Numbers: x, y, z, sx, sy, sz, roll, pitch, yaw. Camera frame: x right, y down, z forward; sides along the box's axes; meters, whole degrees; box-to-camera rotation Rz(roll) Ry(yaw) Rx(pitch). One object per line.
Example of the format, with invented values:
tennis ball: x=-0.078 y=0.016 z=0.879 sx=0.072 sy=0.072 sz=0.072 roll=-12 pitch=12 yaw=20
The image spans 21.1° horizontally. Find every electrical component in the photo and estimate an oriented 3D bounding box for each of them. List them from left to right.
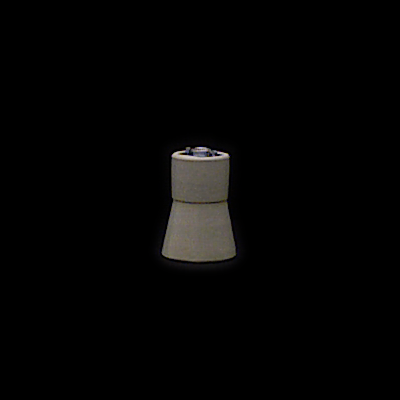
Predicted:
electrical component: x=0.000 y=0.000 z=0.643 sx=0.044 sy=0.066 sz=0.044 roll=1 pitch=12 yaw=0
